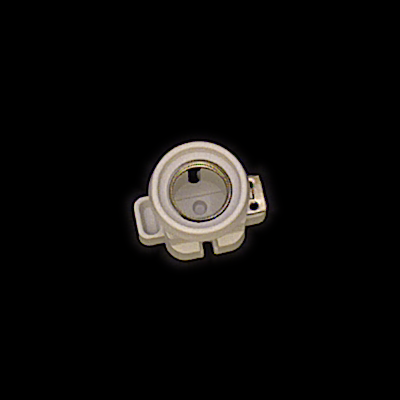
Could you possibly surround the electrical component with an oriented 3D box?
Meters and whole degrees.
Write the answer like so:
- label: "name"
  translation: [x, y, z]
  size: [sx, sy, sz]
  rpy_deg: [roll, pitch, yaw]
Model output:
- label: "electrical component"
  translation: [0.000, 0.000, 0.629]
  size: [0.078, 0.058, 0.056]
  rpy_deg: [-11, -16, -4]
